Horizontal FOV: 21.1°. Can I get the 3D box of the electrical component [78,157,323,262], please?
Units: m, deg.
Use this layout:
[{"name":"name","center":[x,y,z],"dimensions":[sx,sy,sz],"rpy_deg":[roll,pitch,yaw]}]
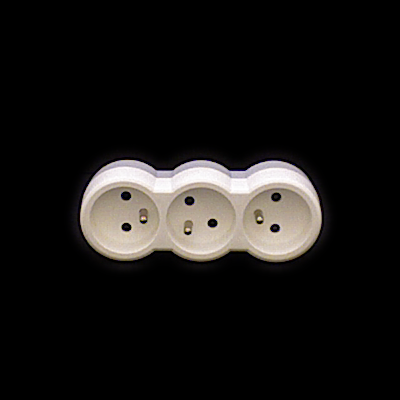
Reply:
[{"name":"electrical component","center":[0.000,0.000,0.640],"dimensions":[0.138,0.053,0.073],"rpy_deg":[0,19,-1]}]
